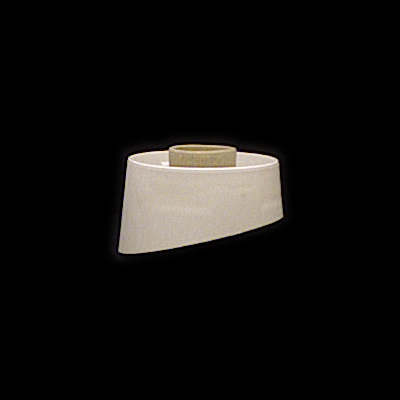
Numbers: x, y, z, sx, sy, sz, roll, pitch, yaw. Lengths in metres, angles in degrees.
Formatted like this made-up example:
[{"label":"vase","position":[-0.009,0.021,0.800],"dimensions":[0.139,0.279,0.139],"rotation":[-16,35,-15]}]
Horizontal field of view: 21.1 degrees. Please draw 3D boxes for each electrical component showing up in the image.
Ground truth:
[{"label":"electrical component","position":[0.000,0.000,0.644],"dimensions":[0.099,0.064,0.098],"rotation":[1,10,0]}]
